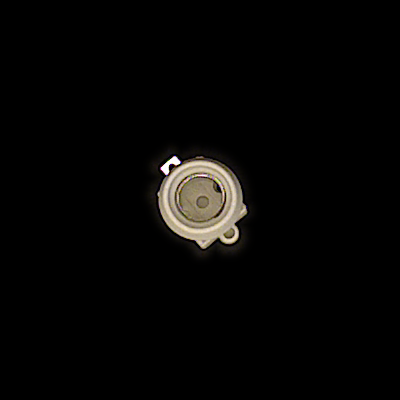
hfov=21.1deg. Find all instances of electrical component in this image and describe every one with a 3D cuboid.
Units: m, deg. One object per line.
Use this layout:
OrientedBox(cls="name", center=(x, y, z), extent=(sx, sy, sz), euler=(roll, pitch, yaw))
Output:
OrientedBox(cls="electrical component", center=(0.000, 0.000, 0.639), extent=(0.048, 0.066, 0.055), euler=(-41, -5, -5))
